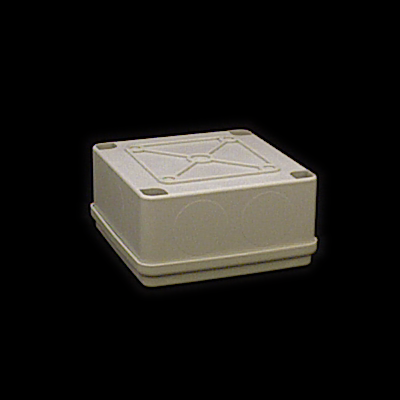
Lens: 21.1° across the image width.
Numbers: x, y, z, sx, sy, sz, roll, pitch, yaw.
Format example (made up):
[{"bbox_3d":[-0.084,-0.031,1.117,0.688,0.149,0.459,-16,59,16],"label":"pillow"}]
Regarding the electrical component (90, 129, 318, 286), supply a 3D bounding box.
[{"bbox_3d":[0.000,0.000,0.639,0.109,0.057,0.107,-7,22,-20],"label":"electrical component"}]
